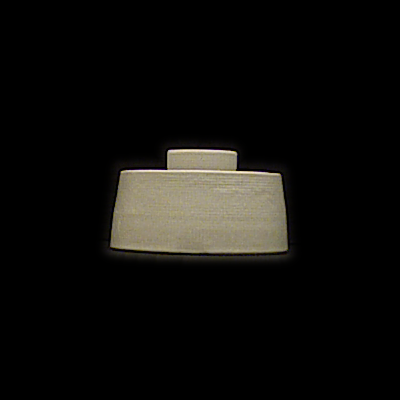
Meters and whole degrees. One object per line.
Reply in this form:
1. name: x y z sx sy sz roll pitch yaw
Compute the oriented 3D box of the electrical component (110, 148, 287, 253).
1. electrical component: 0.000 0.000 0.655 0.108 0.060 0.108 1 1 1
